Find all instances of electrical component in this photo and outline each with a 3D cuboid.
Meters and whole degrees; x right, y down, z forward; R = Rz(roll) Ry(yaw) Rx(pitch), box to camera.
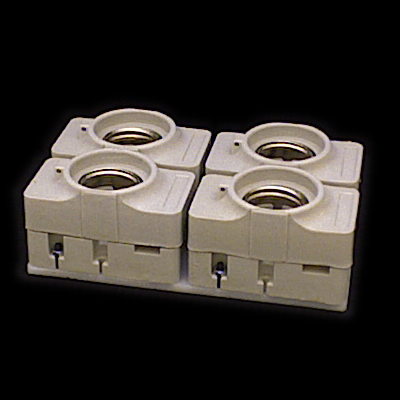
[{"bbox_3d":[0.000,0.000,0.633,0.186,0.061,0.104,6,32,8],"label":"electrical component"}]
